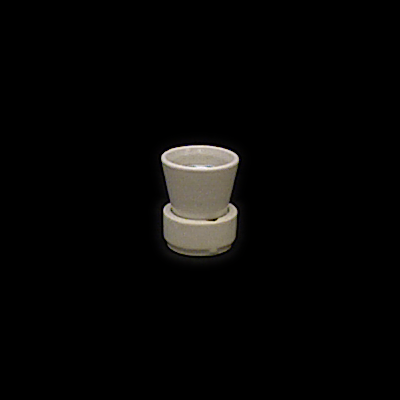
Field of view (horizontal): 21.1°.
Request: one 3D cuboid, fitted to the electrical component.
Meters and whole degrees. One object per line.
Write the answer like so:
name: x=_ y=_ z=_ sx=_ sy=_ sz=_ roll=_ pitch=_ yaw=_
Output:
electrical component: x=0.000 y=0.000 z=0.637 sx=0.045 sy=0.056 sz=0.044 roll=0 pitch=21 yaw=0
